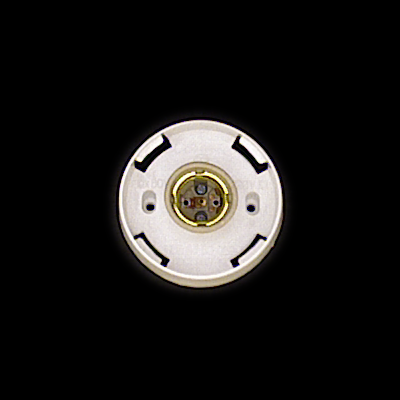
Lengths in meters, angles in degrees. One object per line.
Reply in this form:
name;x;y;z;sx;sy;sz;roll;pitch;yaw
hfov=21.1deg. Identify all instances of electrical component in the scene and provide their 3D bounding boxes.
electrical component;0.000;0.000;0.625;0.099;0.099;0.064;0;-7;0
